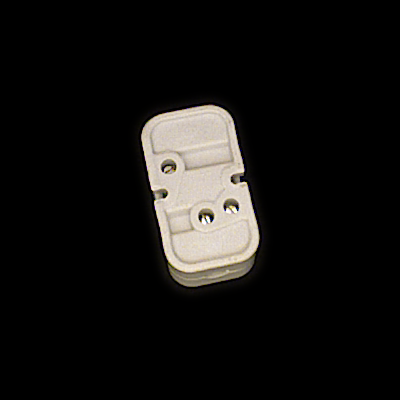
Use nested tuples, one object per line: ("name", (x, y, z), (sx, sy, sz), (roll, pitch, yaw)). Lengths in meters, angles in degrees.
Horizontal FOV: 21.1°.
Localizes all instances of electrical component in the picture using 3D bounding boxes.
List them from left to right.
("electrical component", (0.000, 0.000, 0.636), (0.054, 0.095, 0.059), (-12, -16, -3))
